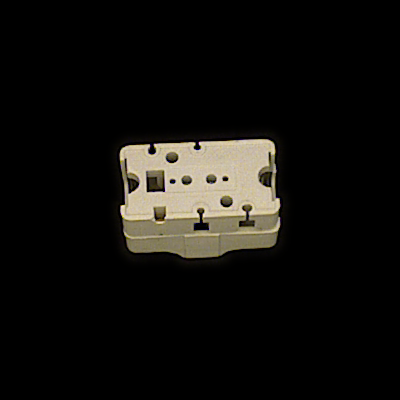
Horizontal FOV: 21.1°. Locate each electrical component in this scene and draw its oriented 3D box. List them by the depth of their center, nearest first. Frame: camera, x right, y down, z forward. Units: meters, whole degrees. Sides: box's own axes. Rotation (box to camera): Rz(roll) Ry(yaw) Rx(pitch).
[{"bbox_3d":[0.000,0.000,0.636,0.090,0.050,0.055,-3,-26,-1],"label":"electrical component"}]
